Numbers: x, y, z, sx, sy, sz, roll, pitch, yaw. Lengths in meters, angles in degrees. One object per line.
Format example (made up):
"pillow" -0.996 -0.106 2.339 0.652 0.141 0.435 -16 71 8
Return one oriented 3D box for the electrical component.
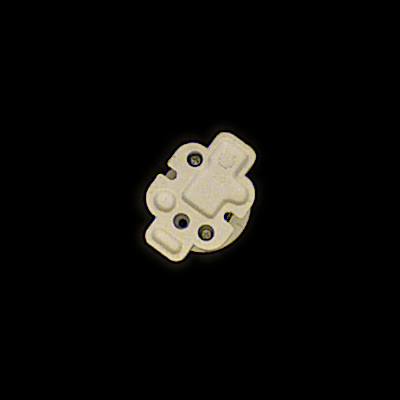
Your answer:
"electrical component" 0.000 0.000 0.637 0.058 0.079 0.056 35 -6 5
